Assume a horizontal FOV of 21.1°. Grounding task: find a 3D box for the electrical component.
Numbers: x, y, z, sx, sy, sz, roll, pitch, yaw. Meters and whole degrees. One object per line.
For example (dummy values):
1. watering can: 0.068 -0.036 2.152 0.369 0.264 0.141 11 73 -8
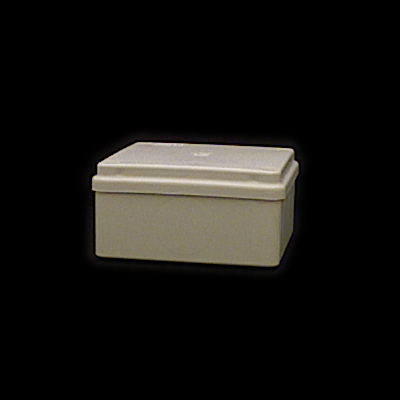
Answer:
1. electrical component: 0.000 0.000 0.643 0.108 0.056 0.108 3 11 9
